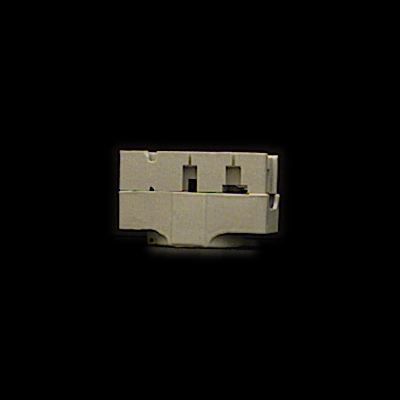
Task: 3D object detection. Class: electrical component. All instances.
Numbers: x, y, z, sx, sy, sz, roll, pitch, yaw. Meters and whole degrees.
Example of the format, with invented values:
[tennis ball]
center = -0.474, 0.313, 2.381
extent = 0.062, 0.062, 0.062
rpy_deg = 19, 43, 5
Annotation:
[electrical component]
center = 0.000, 0.000, 0.656
extent = 0.089, 0.056, 0.050
rpy_deg = 1, 2, 14
